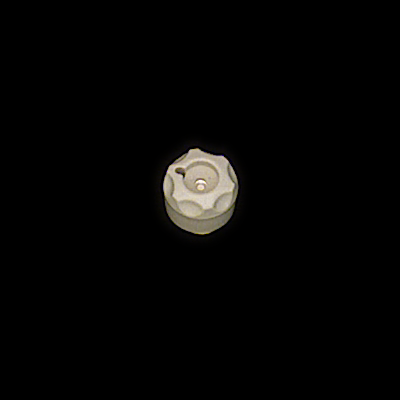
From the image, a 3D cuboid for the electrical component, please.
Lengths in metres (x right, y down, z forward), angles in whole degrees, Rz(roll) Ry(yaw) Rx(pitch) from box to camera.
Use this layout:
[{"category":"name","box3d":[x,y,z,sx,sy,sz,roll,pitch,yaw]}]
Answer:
[{"category":"electrical component","box3d":[0.000,0.000,0.634,0.043,0.043,0.062,0,-27,-1]}]
